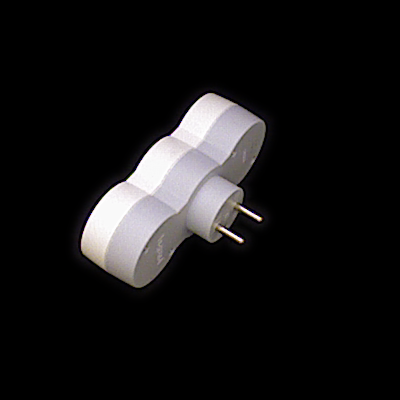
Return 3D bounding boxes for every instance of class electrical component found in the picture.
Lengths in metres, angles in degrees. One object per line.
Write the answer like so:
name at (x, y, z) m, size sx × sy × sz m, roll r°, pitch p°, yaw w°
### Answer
electrical component at (0.000, 0.000, 0.633) m, size 0.073 × 0.138 × 0.052 m, roll 31°, pitch -33°, yaw 19°
